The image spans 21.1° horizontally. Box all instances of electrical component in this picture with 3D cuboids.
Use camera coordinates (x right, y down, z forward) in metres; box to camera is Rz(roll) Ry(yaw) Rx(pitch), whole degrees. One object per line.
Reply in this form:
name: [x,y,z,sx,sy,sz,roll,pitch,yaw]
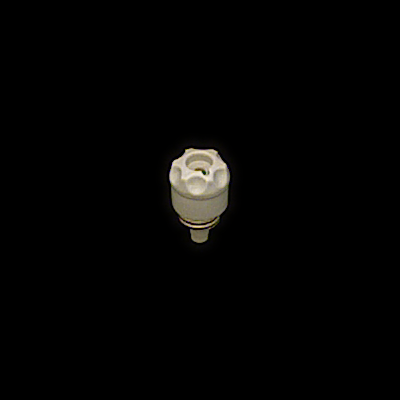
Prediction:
electrical component: [0.000,0.000,0.636,0.035,0.062,0.035,0,43,0]
